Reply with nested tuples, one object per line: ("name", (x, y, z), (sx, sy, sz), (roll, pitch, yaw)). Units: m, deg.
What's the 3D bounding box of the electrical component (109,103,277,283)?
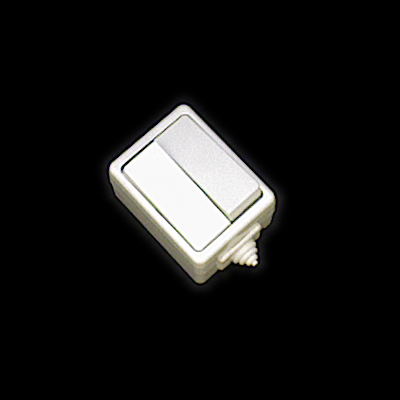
("electrical component", (0.000, 0.000, 0.625), (0.062, 0.096, 0.060), (-41, -13, -11))
